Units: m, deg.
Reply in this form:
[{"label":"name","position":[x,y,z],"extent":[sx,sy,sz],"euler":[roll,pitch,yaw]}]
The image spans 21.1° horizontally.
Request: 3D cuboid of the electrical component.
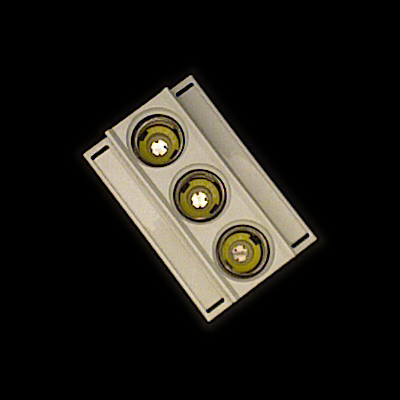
[{"label":"electrical component","position":[0.000,0.000,0.637],"extent":[0.079,0.121,0.063],"euler":[-37,-5,-4]}]
